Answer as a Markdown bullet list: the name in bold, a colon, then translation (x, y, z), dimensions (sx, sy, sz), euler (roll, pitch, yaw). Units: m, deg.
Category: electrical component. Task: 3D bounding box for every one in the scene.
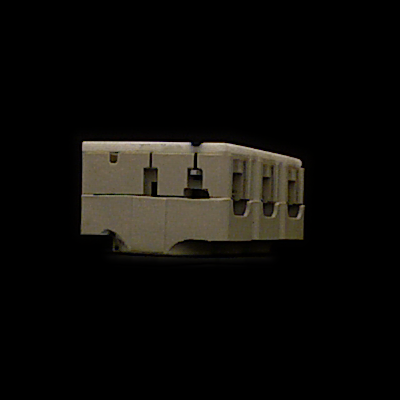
- **electrical component**: translation (0.000, 0.000, 0.660), dimensions (0.089, 0.062, 0.150), euler (2, -1, 22)
